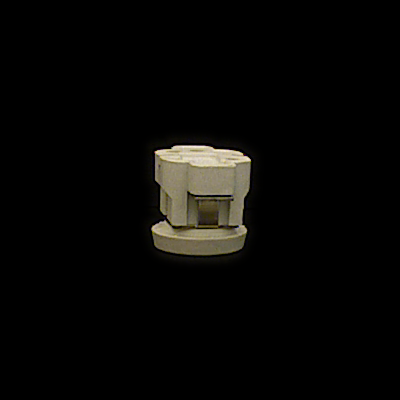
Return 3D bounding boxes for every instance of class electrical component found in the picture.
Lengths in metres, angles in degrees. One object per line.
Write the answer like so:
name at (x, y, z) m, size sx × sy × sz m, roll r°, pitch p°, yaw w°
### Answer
electrical component at (0.000, 0.000, 0.650) m, size 0.058 × 0.057 × 0.077 m, roll -1°, pitch 13°, yaw -13°
